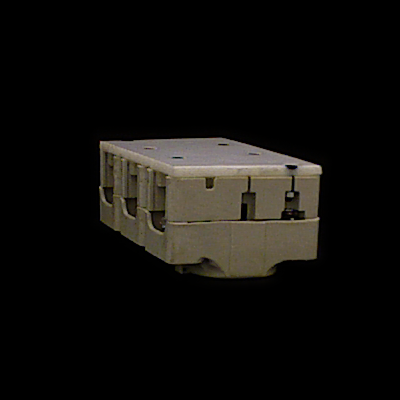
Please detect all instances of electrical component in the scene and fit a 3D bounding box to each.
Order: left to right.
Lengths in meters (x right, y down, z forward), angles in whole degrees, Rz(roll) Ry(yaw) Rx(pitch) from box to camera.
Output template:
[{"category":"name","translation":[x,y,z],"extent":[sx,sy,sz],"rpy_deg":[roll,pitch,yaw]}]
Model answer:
[{"category":"electrical component","translation":[0.000,0.000,0.652],"extent":[0.090,0.062,0.148],"rpy_deg":[-2,10,-20]}]
